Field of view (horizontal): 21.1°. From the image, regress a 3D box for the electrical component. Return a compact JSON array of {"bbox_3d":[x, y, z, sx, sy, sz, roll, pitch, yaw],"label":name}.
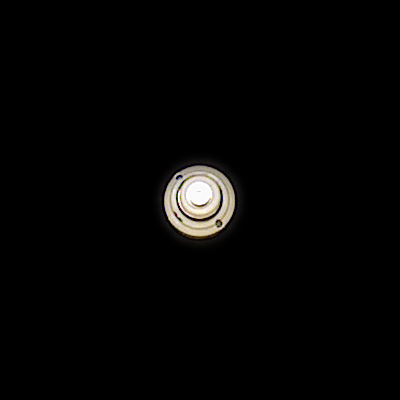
[{"bbox_3d":[0.000,0.000,0.618,0.040,0.040,0.078,0,-6,-1],"label":"electrical component"}]
